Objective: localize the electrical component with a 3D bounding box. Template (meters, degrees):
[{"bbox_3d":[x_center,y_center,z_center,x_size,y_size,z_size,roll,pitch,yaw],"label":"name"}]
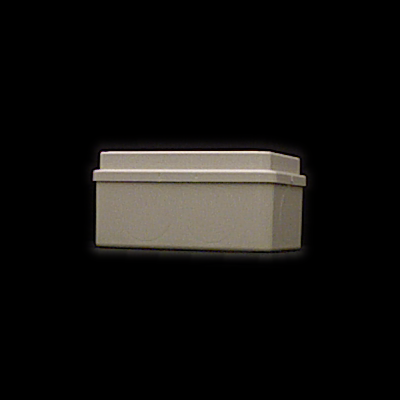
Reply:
[{"bbox_3d":[0.000,0.000,0.651,0.113,0.057,0.078,1,0,20],"label":"electrical component"}]
